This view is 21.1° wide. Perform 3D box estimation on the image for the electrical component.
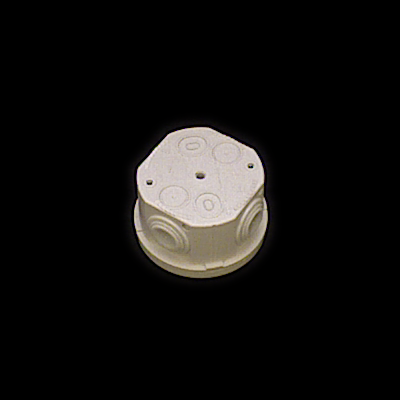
[{"bbox_3d":[0.000,0.000,0.632,0.080,0.080,0.051,0,-37,0],"label":"electrical component"}]
